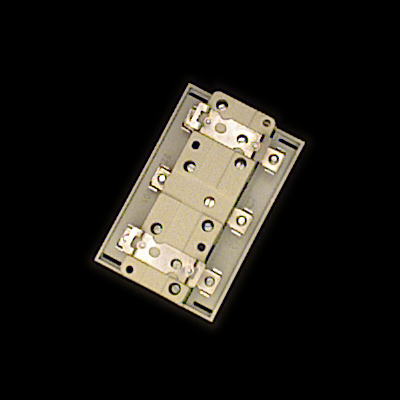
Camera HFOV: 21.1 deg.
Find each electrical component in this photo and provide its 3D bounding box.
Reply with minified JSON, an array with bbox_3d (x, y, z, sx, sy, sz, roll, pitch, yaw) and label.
[{"bbox_3d":[0.000,0.000,0.634,0.078,0.122,0.063,27,-6,4],"label":"electrical component"}]
